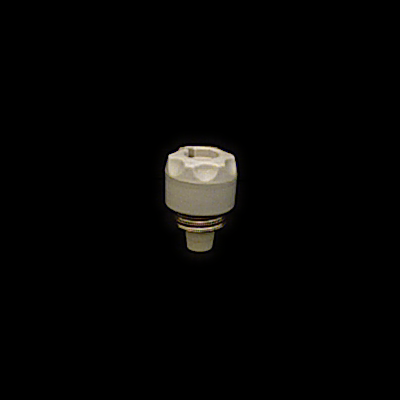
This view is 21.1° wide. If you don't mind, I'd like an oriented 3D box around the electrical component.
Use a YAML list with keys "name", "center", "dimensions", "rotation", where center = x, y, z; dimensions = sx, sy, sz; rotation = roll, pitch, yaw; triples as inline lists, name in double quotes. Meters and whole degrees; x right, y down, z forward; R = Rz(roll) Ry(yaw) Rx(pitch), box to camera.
- name: "electrical component"
  center: [0.000, 0.000, 0.645]
  dimensions: [0.043, 0.063, 0.043]
  rotation: [2, 23, 0]
